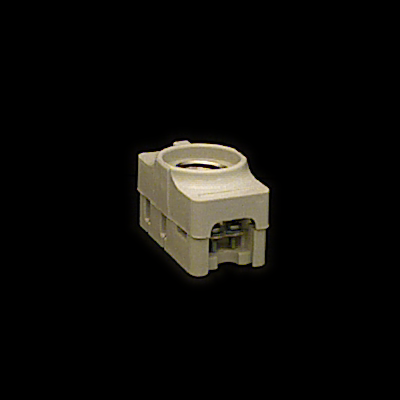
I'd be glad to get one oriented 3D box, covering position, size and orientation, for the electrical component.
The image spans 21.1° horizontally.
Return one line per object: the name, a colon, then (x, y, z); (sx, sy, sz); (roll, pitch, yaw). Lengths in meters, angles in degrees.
electrical component: (0.000, 0.000, 0.647); (0.050, 0.056, 0.088); (-9, 24, -24)
